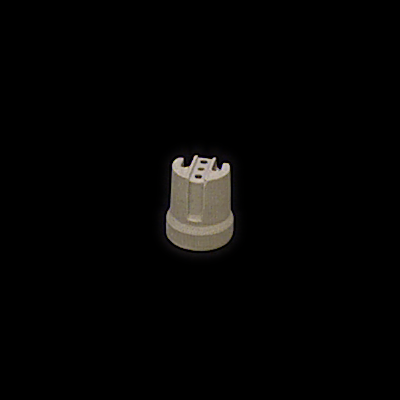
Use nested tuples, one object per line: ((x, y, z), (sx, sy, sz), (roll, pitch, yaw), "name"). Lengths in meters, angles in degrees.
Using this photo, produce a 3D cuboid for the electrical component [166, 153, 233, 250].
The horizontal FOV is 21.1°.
((0.000, 0.000, 0.639), (0.040, 0.046, 0.040), (1, 32, -1), "electrical component")
